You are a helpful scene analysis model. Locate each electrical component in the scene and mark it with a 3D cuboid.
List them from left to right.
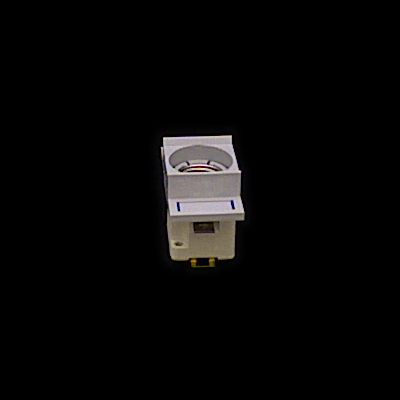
[{"bbox_3d":[0.000,0.000,0.635,0.042,0.065,0.079,-3,32,-4],"label":"electrical component"}]
